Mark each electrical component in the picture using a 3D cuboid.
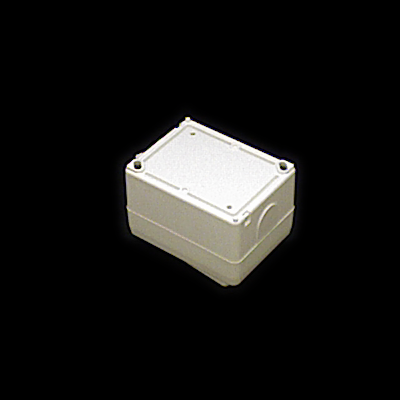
[{"bbox_3d":[0.000,0.000,0.633,0.095,0.061,0.062,26,48,26],"label":"electrical component"}]
